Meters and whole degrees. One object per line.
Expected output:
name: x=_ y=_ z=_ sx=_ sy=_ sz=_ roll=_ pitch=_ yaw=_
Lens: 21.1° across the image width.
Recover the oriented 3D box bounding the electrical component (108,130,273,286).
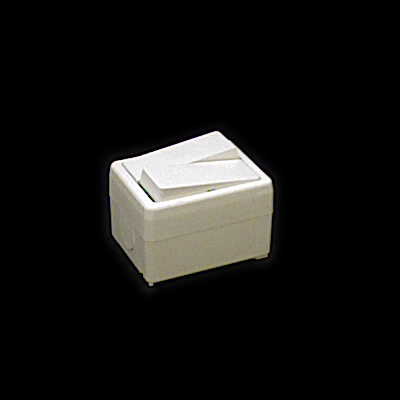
electrical component: x=0.000 y=0.000 z=0.635 sx=0.096 sy=0.061 sz=0.061 roll=-13 pitch=34 yaw=-21
